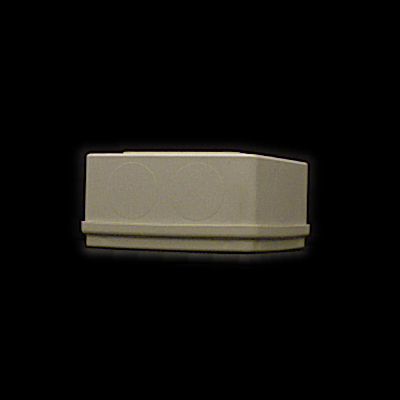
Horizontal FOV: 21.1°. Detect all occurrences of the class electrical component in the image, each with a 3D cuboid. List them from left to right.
[{"bbox_3d":[0.000,0.000,0.648,0.108,0.056,0.109,1,1,23],"label":"electrical component"}]
